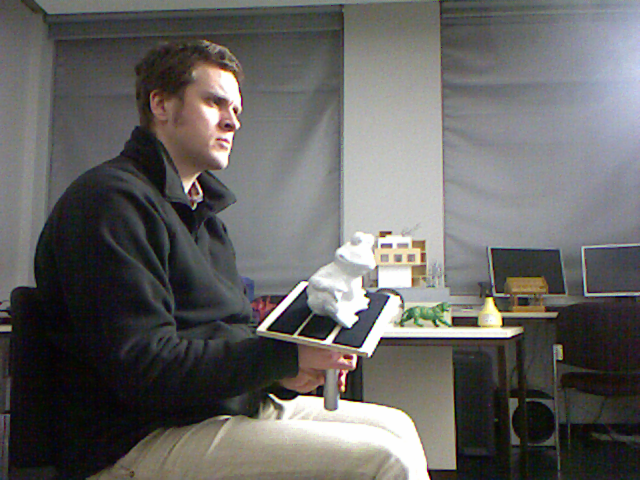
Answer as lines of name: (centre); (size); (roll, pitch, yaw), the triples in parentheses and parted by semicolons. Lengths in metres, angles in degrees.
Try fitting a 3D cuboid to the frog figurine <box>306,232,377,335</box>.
frog figurine: (0.036, 0.061, 0.893); (0.124, 0.157, 0.139); (19, 30, 38)
